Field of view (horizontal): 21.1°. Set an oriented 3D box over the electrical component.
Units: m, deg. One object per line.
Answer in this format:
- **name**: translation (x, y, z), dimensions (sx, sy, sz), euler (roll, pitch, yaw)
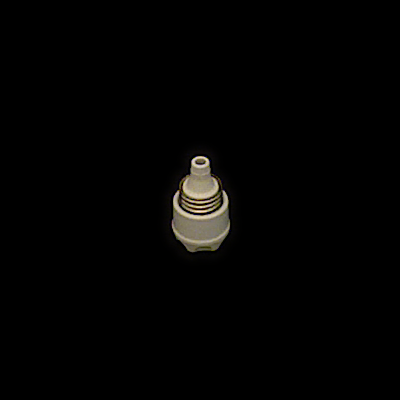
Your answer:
- **electrical component**: translation (0.000, 0.000, 0.641), dimensions (0.035, 0.062, 0.035), euler (0, 41, 0)
